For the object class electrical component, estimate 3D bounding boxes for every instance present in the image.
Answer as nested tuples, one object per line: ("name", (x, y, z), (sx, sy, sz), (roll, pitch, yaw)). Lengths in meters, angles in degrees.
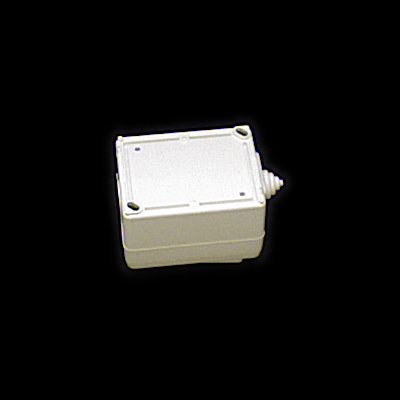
("electrical component", (0.000, 0.000, 0.630), (0.096, 0.061, 0.061), (-5, -39, -5))
